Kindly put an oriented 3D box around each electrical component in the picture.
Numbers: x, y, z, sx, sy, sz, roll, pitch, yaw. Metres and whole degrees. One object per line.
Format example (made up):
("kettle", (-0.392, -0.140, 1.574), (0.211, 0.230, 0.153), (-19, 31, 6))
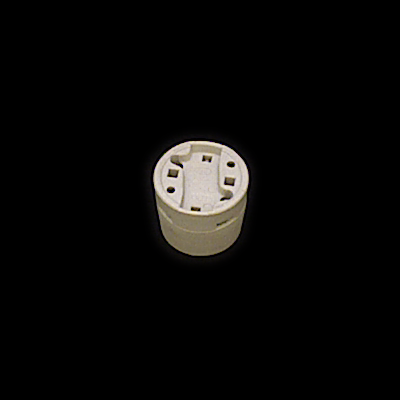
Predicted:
("electrical component", (0.000, 0.000, 0.634), (0.055, 0.055, 0.047), (0, -38, 0))
